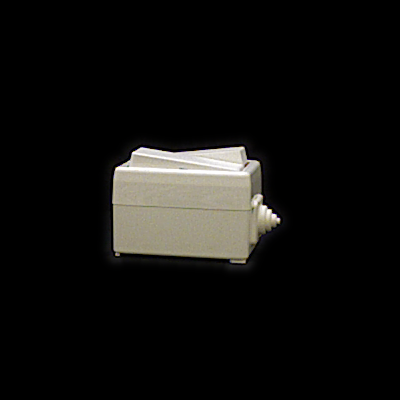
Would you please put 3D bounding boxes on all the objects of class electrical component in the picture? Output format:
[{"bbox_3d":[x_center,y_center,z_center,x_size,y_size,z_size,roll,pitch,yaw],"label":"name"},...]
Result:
[{"bbox_3d":[0.000,0.000,0.644,0.096,0.061,0.061,3,11,10],"label":"electrical component"}]
